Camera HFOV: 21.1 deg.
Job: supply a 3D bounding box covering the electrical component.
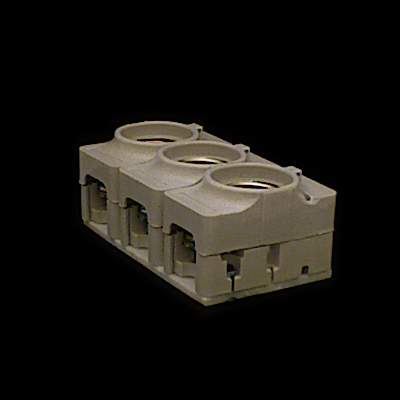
[{"bbox_3d":[0.000,0.000,0.646,0.089,0.063,0.148,-11,24,-32],"label":"electrical component"}]
